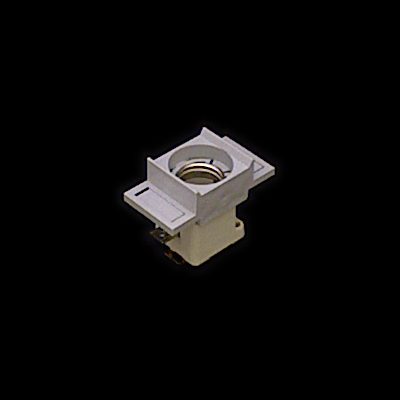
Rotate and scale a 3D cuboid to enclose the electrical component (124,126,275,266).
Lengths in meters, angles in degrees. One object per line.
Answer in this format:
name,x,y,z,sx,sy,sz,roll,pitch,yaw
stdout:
electrical component,0.000,0.000,0.627,0.081,0.064,0.042,-31,51,-31
